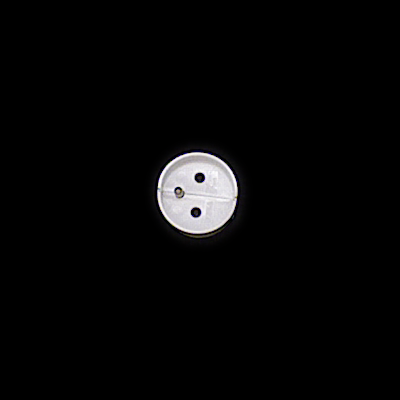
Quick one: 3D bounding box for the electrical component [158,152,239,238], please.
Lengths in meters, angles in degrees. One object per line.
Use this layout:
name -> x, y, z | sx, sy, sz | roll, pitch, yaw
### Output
electrical component -> 0.000, 0.000, 0.615 | 0.043, 0.043, 0.080 | 0, -7, 1
